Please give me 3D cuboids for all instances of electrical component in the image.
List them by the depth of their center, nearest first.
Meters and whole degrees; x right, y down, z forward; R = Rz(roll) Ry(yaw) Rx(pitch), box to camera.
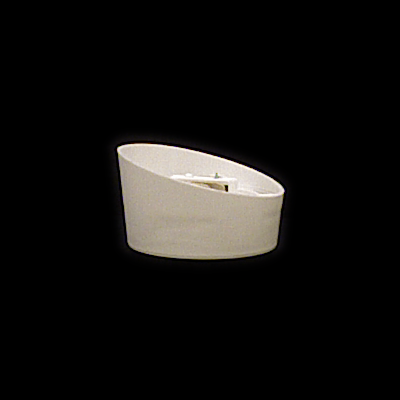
[{"bbox_3d":[0.000,0.000,0.643,0.099,0.064,0.098,0,10,0],"label":"electrical component"}]
